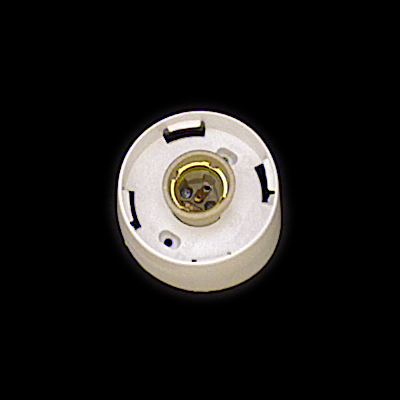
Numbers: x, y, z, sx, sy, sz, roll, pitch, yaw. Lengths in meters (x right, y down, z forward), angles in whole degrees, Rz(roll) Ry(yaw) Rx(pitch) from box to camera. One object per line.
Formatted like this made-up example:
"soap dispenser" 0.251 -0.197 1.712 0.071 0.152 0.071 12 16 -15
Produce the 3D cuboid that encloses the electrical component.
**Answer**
"electrical component" 0.000 0.000 0.624 0.099 0.099 0.064 0 -17 -1
